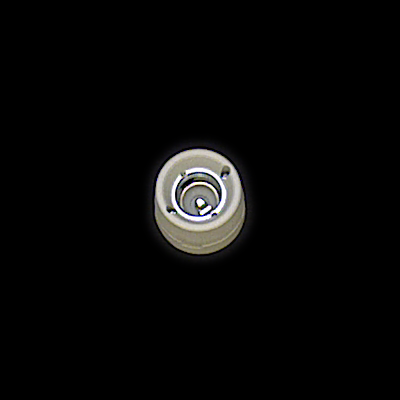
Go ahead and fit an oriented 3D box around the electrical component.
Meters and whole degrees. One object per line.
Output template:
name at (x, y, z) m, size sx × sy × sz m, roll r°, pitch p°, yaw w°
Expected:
electrical component at (0.000, 0.000, 0.632) m, size 0.055 × 0.056 × 0.047 m, roll 0°, pitch -17°, yaw 1°
